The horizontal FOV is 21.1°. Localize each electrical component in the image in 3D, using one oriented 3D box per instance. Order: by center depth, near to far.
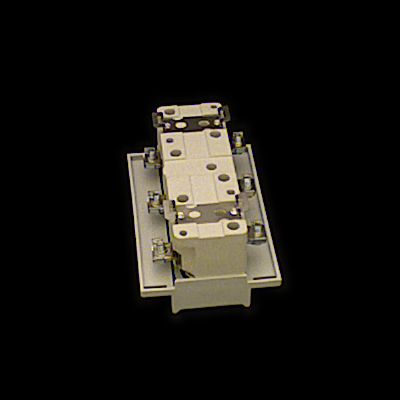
[{"bbox_3d":[0.000,0.000,0.636,0.079,0.063,0.120,-5,43,-5],"label":"electrical component"}]
